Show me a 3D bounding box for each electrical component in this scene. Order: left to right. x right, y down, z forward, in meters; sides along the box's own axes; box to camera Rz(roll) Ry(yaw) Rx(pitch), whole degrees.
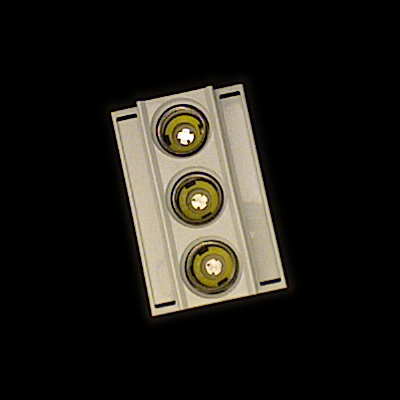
[{"bbox_3d":[0.000,0.000,0.637,0.079,0.121,0.063,-12,-6,1],"label":"electrical component"}]
